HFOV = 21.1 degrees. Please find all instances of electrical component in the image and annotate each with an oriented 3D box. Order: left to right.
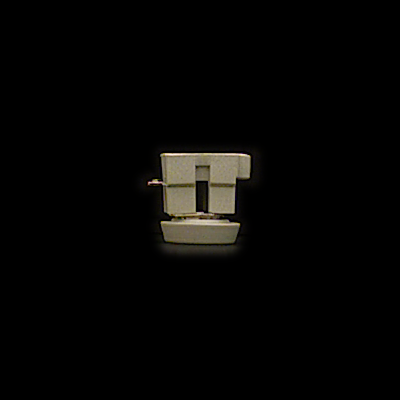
[{"bbox_3d":[0.000,0.000,0.657,0.066,0.055,0.048,0,3,-7],"label":"electrical component"}]
